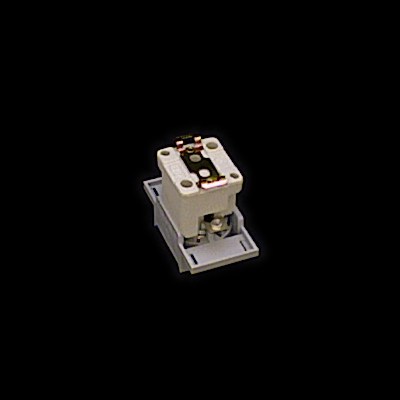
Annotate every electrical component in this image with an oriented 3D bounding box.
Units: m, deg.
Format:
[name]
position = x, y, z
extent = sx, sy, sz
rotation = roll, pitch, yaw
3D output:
[electrical component]
position = 0.000, 0.000, 0.629
extent = 0.042, 0.064, 0.080
rotation = -15, 44, -17
